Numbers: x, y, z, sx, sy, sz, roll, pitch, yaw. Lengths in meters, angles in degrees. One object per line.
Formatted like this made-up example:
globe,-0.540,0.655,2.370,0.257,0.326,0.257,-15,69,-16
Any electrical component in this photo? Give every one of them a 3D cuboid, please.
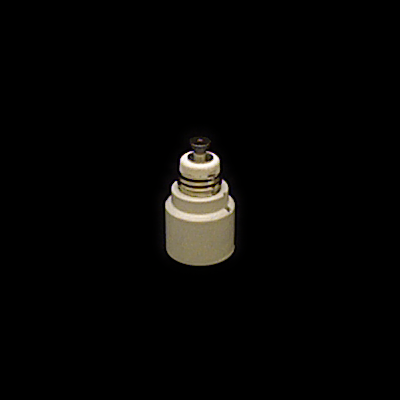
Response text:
electrical component,0.000,0.000,0.629,0.040,0.079,0.039,0,31,0
